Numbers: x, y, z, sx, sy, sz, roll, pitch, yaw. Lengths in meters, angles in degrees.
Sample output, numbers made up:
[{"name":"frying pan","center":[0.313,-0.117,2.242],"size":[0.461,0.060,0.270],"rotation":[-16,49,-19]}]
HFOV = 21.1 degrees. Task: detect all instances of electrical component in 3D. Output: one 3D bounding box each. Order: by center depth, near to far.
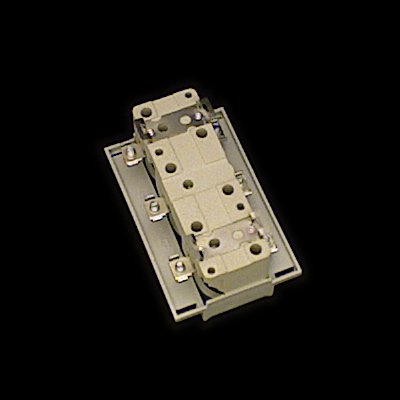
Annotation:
[{"name":"electrical component","center":[0.000,0.000,0.634],"size":[0.079,0.121,0.063],"rotation":[-20,-25,-10]}]
